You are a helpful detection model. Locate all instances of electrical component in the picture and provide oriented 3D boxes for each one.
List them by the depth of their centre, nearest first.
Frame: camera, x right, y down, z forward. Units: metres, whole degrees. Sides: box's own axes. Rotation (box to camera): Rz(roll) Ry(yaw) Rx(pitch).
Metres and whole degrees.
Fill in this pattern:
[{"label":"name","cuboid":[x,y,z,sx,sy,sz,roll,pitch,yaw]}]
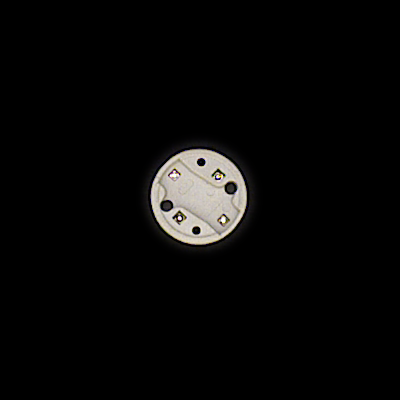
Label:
[{"label":"electrical component","cuboid":[0.000,0.000,0.636,0.055,0.055,0.047,0,-7,0]}]
